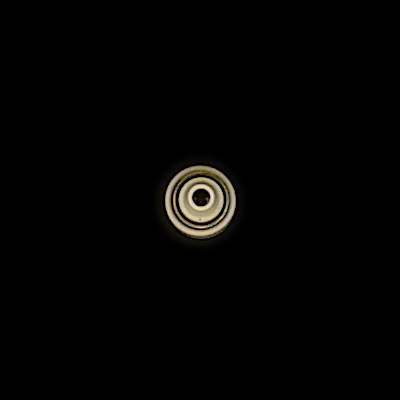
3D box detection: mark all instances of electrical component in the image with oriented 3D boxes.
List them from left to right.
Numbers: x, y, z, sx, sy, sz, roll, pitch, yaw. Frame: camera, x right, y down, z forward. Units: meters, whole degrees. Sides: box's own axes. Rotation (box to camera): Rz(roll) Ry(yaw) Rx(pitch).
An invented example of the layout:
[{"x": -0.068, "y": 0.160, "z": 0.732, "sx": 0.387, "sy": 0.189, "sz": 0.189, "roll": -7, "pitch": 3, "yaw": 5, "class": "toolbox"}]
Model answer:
[{"x": 0.000, "y": 0.000, "z": 0.635, "sx": 0.043, "sy": 0.043, "sz": 0.062, "roll": 0, "pitch": -4, "yaw": 0, "class": "electrical component"}]
